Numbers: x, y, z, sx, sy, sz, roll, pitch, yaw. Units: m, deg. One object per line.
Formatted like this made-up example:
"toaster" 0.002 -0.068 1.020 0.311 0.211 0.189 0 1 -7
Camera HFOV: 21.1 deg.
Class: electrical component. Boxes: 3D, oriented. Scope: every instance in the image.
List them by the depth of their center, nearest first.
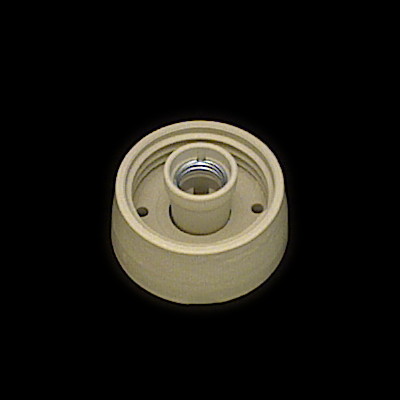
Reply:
"electrical component" 0.000 0.000 0.634 0.108 0.107 0.060 0 -37 -1
